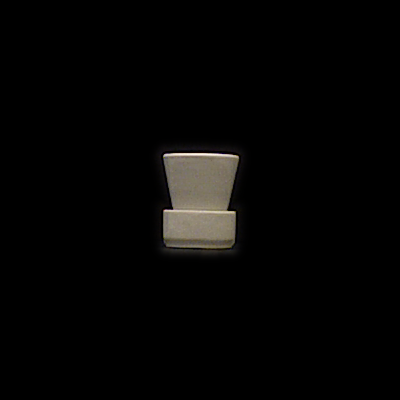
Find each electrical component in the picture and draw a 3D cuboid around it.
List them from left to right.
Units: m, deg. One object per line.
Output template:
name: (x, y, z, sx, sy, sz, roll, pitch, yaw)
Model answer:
electrical component: (0.000, 0.000, 0.649, 0.045, 0.055, 0.044, 1, 2, 0)
